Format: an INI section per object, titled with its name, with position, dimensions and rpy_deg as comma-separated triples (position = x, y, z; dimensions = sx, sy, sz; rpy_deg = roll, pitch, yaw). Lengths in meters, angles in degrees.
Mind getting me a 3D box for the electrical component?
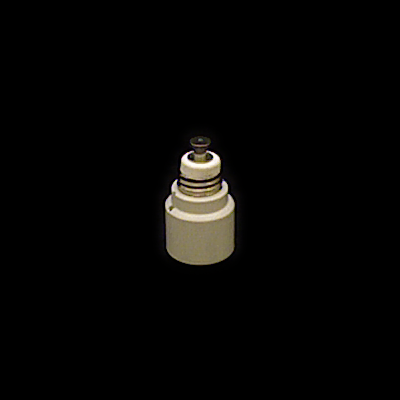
[electrical component]
position = 0.000, 0.000, 0.630
dimensions = 0.040, 0.079, 0.039
rpy_deg = 0, 32, 0
